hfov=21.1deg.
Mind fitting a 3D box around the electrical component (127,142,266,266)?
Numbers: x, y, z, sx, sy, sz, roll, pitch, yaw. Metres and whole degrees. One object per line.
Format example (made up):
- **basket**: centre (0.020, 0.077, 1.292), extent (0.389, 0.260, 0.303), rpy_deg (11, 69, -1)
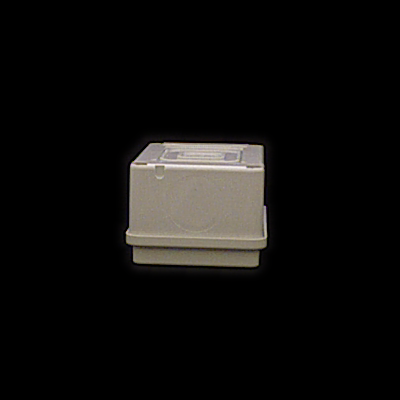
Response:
- **electrical component**: centre (0.000, 0.000, 0.644), extent (0.078, 0.057, 0.112), rpy_deg (2, 10, 3)
